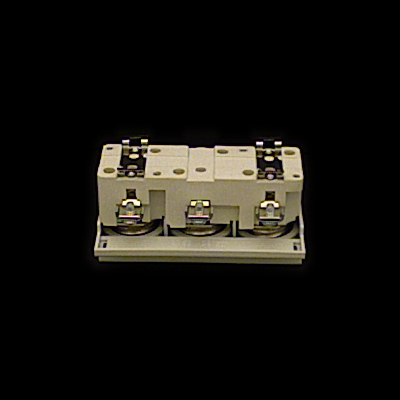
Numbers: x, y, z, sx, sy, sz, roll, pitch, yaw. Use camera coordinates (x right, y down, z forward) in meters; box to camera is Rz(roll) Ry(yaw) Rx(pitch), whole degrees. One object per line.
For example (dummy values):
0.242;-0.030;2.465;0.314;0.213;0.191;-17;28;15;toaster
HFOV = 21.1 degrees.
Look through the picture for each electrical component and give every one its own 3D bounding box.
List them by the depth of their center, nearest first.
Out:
0.000;0.000;0.644;0.121;0.064;0.077;1;31;0;electrical component
